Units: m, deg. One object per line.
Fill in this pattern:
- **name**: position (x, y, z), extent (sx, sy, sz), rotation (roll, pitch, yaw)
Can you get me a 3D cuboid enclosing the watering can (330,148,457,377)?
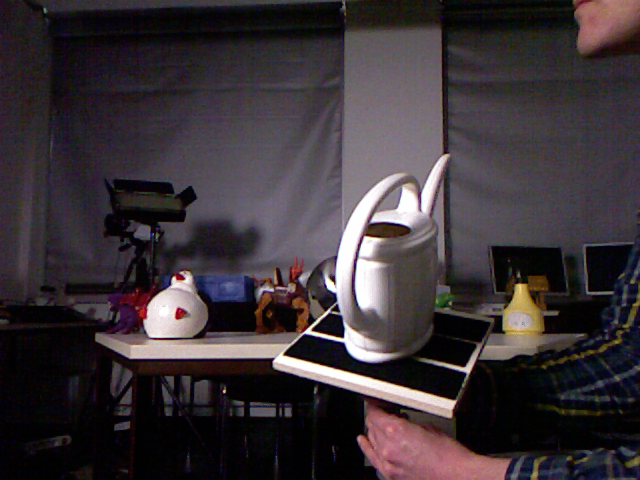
- **watering can**: position (0.105, 0.015, 0.622), extent (0.105, 0.222, 0.355), rotation (12, 25, 27)
